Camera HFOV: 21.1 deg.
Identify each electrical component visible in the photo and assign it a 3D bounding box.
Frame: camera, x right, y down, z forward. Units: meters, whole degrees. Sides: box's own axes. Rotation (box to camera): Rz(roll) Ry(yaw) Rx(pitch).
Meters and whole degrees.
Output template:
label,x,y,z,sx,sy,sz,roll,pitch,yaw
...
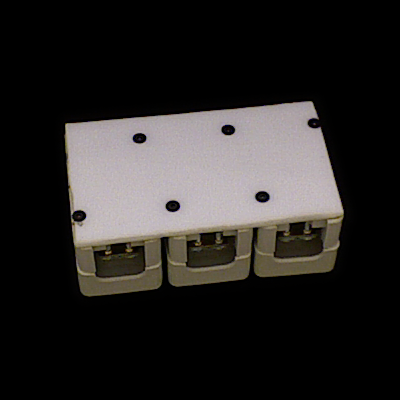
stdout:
label,x,y,z,sx,sy,sz,roll,pitch,yaw
electrical component,0.000,0.000,0.635,0.150,0.088,0.063,-5,-37,-5
